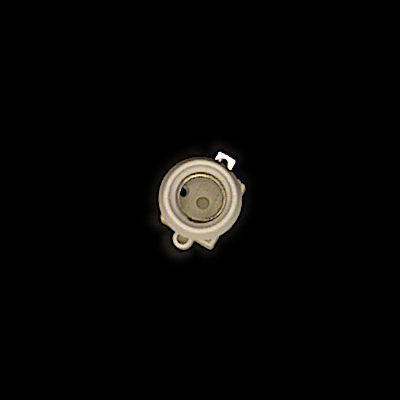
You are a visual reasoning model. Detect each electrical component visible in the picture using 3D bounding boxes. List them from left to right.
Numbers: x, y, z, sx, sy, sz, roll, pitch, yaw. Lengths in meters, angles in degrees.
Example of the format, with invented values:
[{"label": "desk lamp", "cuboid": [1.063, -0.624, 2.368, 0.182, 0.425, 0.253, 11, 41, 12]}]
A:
[{"label": "electrical component", "cuboid": [0.000, 0.000, 0.639, 0.048, 0.066, 0.055, 28, -5, 2]}]
